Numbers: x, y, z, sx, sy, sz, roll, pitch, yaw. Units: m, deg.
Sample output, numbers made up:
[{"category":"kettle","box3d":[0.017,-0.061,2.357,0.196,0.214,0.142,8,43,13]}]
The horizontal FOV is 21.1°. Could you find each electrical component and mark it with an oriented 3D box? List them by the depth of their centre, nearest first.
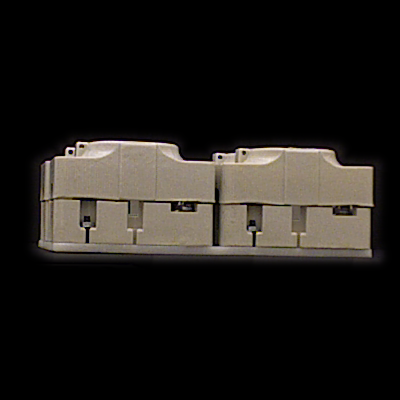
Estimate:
[{"category":"electrical component","box3d":[0.000,0.000,0.648,0.186,0.060,0.105,1,0,-13]}]
